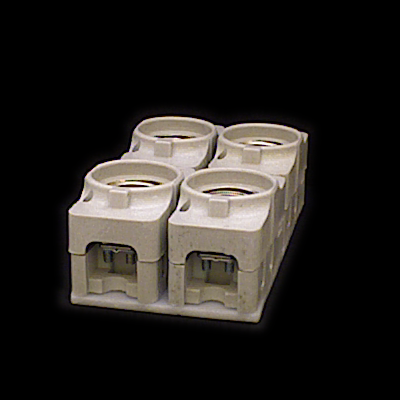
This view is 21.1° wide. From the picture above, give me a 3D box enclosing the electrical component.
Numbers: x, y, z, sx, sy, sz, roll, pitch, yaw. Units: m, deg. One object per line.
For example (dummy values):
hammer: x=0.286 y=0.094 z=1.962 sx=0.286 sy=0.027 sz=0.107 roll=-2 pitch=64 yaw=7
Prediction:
electrical component: x=0.000 y=0.000 z=0.638 sx=0.105 sy=0.061 sz=0.184 roll=6 pitch=21 yaw=11
